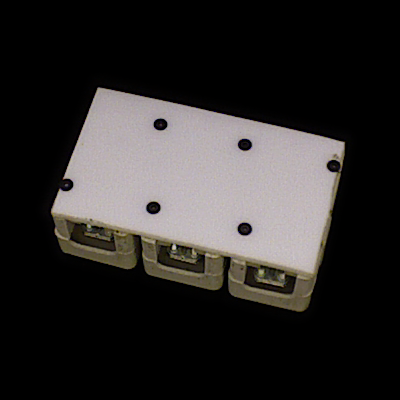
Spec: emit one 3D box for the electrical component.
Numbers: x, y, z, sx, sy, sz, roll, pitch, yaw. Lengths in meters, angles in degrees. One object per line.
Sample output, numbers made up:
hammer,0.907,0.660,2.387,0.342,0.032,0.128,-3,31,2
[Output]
electrical component,0.000,0.000,0.631,0.150,0.089,0.062,14,-27,7
